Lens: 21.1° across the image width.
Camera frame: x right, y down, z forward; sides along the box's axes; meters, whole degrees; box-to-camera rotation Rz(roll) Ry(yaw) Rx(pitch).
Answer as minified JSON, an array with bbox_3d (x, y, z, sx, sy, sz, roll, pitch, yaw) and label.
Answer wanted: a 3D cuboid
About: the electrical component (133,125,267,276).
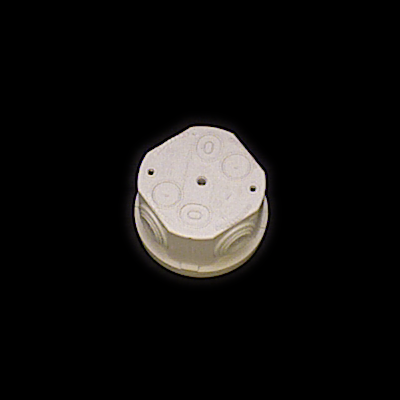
[{"bbox_3d":[0.000,0.000,0.631,0.080,0.080,0.050,0,-27,-1],"label":"electrical component"}]
